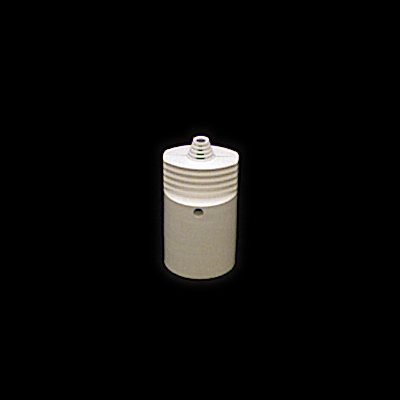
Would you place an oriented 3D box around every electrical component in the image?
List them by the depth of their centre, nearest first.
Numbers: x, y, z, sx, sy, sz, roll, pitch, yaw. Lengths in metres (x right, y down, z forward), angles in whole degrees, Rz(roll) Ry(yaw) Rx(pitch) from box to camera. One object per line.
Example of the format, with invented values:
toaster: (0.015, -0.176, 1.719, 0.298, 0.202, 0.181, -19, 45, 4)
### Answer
electrical component: (0.000, 0.000, 0.628, 0.043, 0.082, 0.042, 1, 31, 0)
